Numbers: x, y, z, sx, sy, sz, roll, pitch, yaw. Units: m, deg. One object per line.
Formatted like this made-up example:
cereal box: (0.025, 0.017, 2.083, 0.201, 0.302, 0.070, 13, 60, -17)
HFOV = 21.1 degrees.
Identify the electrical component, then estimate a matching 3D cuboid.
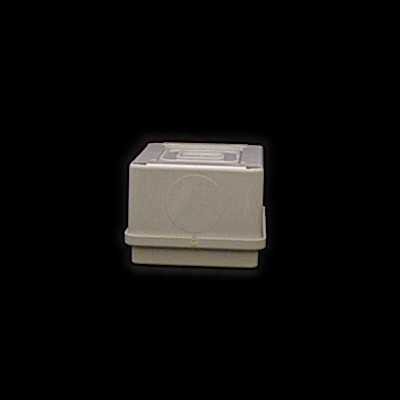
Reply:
electrical component: (0.000, 0.000, 0.644, 0.078, 0.057, 0.112, 2, 11, 3)
